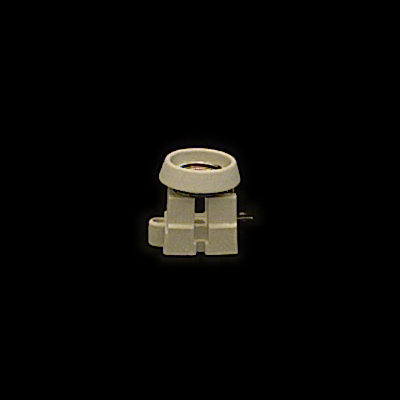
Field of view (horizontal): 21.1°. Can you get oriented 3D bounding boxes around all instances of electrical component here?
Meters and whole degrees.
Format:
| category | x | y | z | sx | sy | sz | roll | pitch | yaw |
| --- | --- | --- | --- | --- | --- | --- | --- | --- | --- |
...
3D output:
| category | x | y | z | sx | sy | sz | roll | pitch | yaw |
| --- | --- | --- | --- | --- | --- | --- | --- | --- | --- |
| electrical component | 0.000 | 0.000 | 0.648 | 0.066 | 0.056 | 0.048 | -1 | 24 | -5 |
